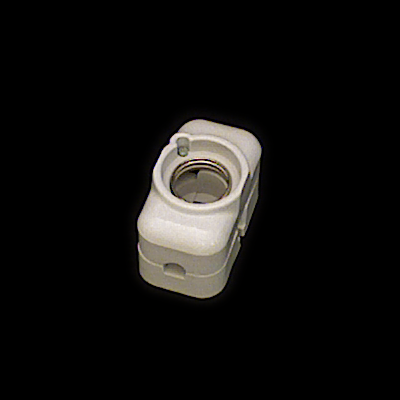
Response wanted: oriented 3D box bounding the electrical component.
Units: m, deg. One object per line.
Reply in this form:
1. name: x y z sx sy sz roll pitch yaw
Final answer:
1. electrical component: 0.000 0.000 0.635 0.053 0.095 0.059 14 -36 10
